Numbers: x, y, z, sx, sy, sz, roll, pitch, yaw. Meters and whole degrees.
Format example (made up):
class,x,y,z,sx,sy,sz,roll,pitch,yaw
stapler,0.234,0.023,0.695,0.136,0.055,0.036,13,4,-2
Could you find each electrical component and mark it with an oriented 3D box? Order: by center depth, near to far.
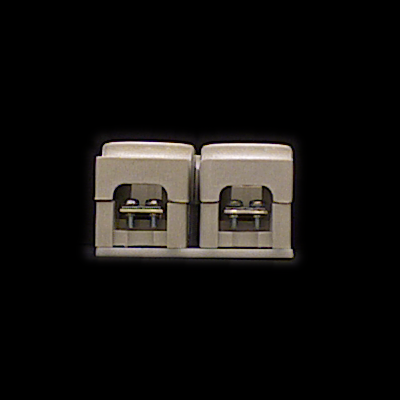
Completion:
class,x,y,z,sx,sy,sz,roll,pitch,yaw
electrical component,0.000,0.000,0.650,0.105,0.060,0.186,1,-1,2
